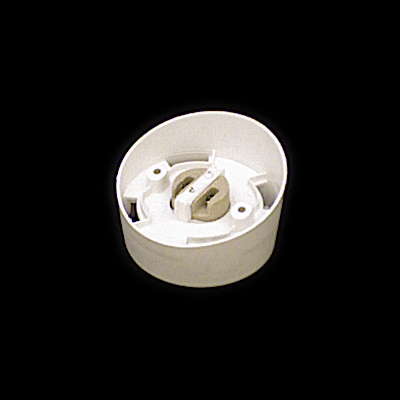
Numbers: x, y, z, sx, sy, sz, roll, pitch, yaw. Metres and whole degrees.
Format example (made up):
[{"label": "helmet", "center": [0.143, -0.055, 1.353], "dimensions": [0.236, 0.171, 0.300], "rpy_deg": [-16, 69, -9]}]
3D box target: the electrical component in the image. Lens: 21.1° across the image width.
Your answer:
[{"label": "electrical component", "center": [0.000, 0.000, 0.630], "dimensions": [0.099, 0.065, 0.097], "rpy_deg": [1, 41, 0]}]
